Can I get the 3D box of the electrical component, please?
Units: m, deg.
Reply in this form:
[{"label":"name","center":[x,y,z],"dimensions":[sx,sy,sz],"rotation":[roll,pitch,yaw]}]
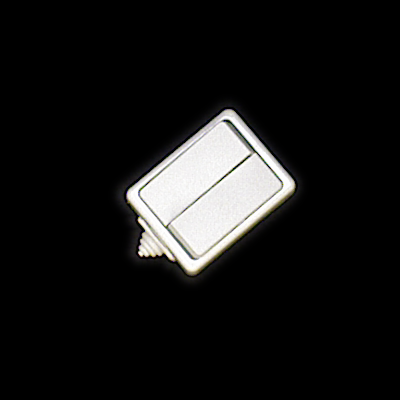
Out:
[{"label":"electrical component","center":[0.000,0.000,0.626],"dimensions":[0.096,0.062,0.061],"rotation":[-39,-5,-4]}]
